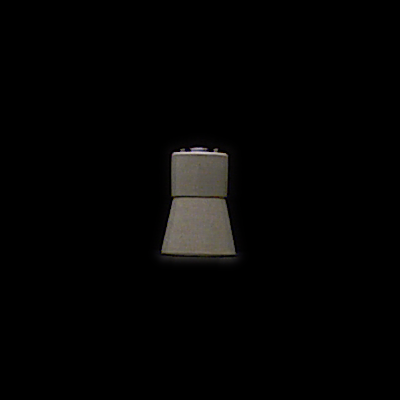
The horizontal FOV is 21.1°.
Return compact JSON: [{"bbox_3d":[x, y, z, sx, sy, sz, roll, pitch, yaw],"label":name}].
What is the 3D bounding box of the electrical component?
[{"bbox_3d":[0.000,0.000,0.651,0.044,0.065,0.044,1,0,0],"label":"electrical component"}]
